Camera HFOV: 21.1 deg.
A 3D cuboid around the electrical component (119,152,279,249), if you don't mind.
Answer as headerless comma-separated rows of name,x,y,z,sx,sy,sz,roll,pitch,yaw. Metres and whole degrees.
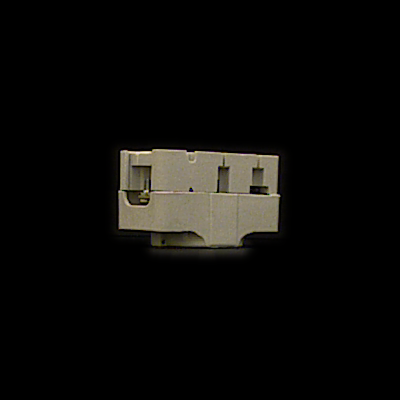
electrical component,0.000,0.000,0.656,0.090,0.056,0.050,0,3,-36
